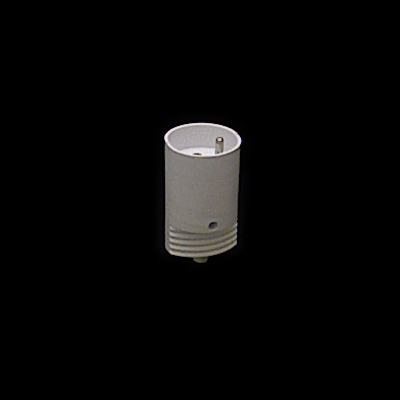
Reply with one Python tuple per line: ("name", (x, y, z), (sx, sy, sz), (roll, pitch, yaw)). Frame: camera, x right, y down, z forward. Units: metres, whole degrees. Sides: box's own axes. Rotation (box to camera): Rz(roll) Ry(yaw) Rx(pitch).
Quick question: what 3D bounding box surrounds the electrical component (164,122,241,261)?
("electrical component", (0.000, 0.000, 0.630), (0.043, 0.082, 0.042), (1, 32, -1))
